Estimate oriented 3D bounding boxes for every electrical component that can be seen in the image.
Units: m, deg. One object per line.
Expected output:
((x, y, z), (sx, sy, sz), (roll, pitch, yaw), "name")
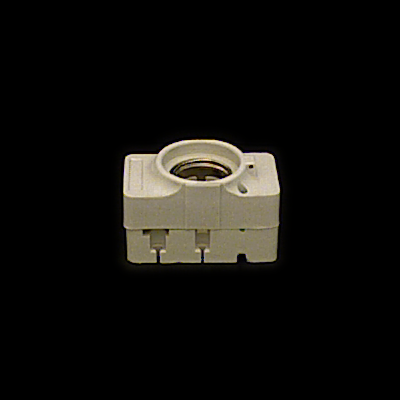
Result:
((0.000, 0.000, 0.642), (0.090, 0.056, 0.049), (-1, 32, -3), "electrical component")
